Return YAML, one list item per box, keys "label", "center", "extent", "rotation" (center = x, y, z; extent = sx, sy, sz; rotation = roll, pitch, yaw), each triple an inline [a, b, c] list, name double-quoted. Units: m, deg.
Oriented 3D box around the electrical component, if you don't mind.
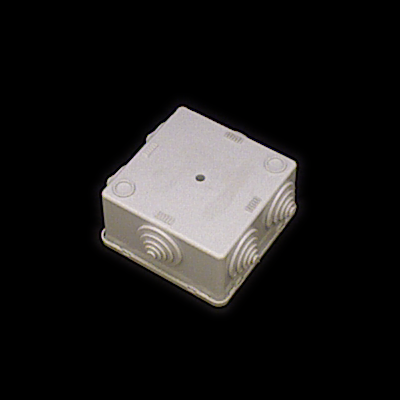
- label: "electrical component"
  center: [0.000, 0.000, 0.633]
  extent: [0.099, 0.099, 0.049]
  rotation: [28, -33, 19]
